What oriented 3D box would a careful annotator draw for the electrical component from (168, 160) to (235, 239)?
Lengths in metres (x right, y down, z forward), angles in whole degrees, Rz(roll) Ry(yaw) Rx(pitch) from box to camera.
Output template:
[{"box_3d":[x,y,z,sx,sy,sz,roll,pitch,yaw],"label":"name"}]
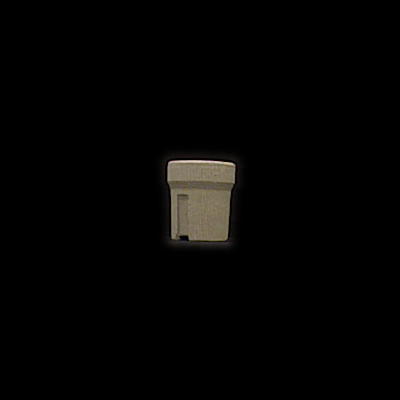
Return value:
[{"box_3d":[0.000,0.000,0.651,0.040,0.046,0.040,1,1,0],"label":"electrical component"}]
